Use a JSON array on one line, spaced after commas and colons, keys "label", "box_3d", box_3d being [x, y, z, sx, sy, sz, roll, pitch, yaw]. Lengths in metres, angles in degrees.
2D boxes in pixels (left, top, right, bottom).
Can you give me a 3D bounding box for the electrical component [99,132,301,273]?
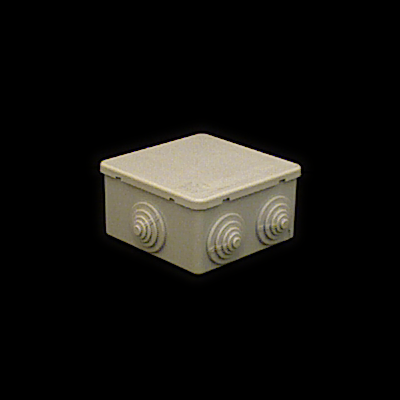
[{"label": "electrical component", "box_3d": [0.000, 0.000, 0.647, 0.100, 0.049, 0.098, -19, 29, -41]}]
